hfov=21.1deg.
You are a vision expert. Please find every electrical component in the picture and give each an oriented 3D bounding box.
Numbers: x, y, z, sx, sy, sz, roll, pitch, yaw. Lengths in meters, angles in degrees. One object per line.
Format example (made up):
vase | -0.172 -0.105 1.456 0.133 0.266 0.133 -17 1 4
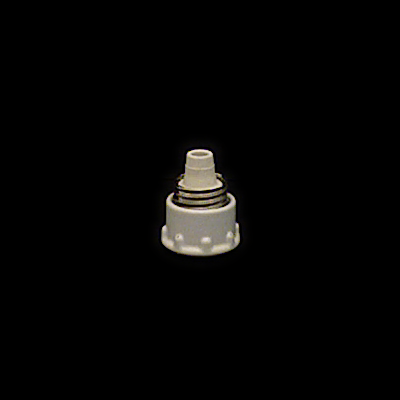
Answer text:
electrical component | 0.000 0.000 0.644 0.048 0.063 0.047 0 22 1
